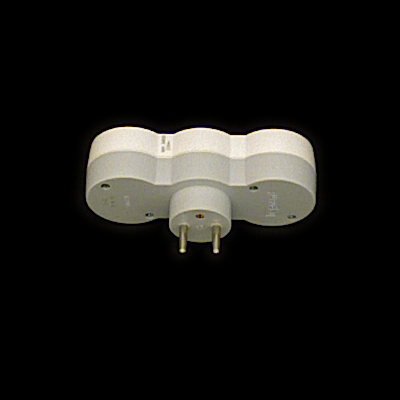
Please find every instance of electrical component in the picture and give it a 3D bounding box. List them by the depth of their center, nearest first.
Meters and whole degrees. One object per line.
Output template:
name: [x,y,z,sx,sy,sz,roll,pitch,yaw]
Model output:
electrical component: [0.000,0.000,0.637,0.138,0.073,0.052,1,-36,0]
